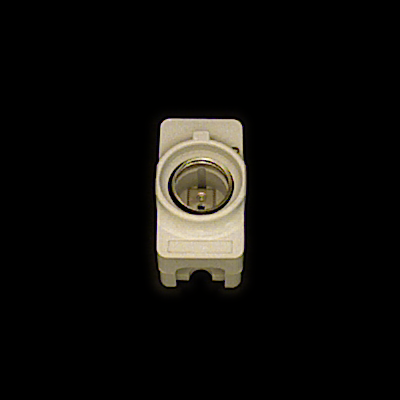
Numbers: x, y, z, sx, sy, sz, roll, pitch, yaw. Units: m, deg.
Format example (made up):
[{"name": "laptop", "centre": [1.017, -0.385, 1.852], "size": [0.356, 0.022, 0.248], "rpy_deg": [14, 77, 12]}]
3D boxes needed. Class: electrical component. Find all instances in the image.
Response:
[{"name": "electrical component", "centre": [0.000, 0.000, 0.636], "size": [0.050, 0.089, 0.055], "rpy_deg": [0, -26, 0]}]
